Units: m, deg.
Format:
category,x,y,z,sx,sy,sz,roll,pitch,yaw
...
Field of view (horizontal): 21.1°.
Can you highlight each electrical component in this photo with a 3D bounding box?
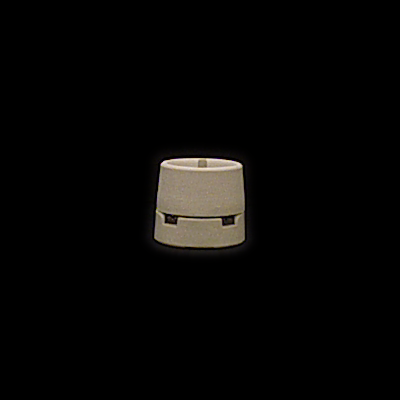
category,x,y,z,sx,sy,sz,roll,pitch,yaw
electrical component,0.000,0.000,0.648,0.055,0.047,0.055,2,10,0
